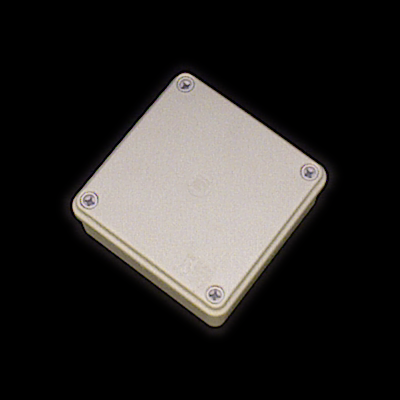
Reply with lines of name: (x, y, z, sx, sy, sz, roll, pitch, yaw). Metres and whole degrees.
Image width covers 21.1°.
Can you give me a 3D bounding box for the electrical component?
electrical component: (0.000, 0.000, 0.630, 0.109, 0.109, 0.056, 36, -14, 10)
